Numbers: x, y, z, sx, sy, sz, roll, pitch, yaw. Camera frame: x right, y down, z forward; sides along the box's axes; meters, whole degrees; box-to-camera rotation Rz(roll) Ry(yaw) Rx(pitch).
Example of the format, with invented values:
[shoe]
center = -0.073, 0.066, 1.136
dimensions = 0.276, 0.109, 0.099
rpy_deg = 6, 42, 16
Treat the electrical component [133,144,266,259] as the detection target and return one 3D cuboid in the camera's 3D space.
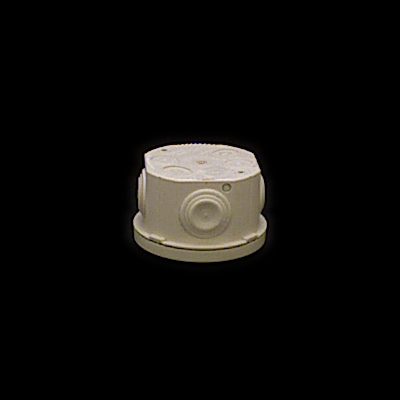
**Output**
[electrical component]
center = 0.000, 0.000, 0.640
dimensions = 0.080, 0.051, 0.079
rpy_deg = 2, 21, 0
